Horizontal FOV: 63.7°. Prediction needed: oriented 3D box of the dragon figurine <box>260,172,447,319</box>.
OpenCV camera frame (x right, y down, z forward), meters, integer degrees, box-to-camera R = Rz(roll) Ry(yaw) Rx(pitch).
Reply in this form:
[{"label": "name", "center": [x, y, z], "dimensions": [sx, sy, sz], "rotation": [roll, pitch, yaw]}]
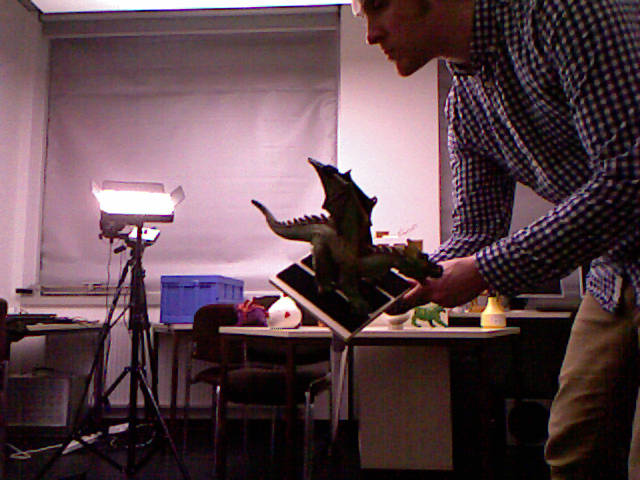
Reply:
[{"label": "dragon figurine", "center": [0.027, -0.020, 0.892], "dimensions": [0.414, 0.237, 0.124], "rotation": [32, 50, 27]}]
